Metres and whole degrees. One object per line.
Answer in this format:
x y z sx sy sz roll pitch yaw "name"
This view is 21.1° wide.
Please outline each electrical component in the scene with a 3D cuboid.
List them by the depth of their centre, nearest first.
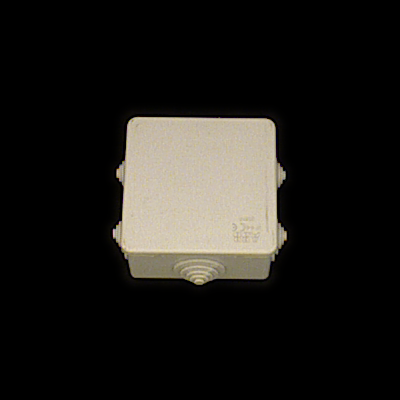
0.000 0.000 0.639 0.100 0.100 0.048 1 -26 0 "electrical component"
